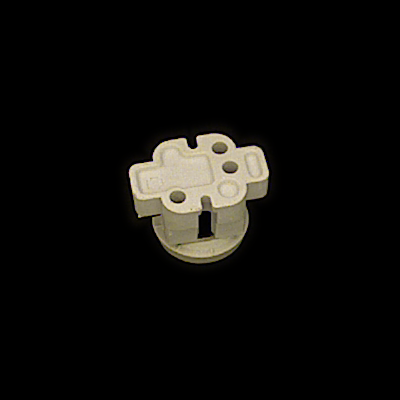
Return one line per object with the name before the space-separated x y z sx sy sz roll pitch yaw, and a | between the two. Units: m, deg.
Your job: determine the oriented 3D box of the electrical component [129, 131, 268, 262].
electrical component | 0.000 0.000 0.636 0.079 0.057 0.057 -10 -36 -7
